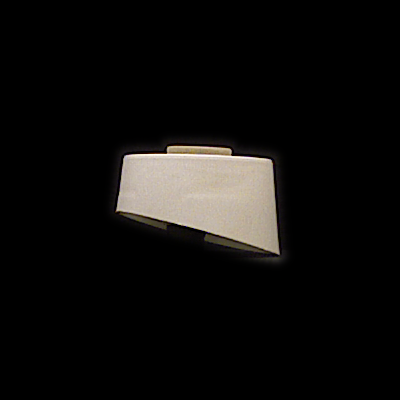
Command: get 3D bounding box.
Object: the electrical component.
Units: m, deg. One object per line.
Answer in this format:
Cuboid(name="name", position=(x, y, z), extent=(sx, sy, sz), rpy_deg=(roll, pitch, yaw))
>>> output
Cuboid(name="electrical component", position=(0.000, 0.000, 0.648), extent=(0.099, 0.064, 0.099), rpy_deg=(2, 0, 0))
